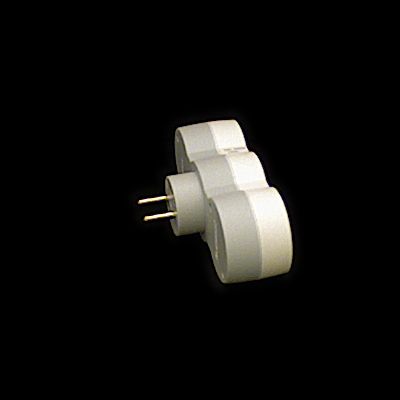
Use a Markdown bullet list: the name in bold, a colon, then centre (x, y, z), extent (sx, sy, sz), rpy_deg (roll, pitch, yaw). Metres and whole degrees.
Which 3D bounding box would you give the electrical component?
- **electrical component**: centre (0.000, 0.000, 0.644), extent (0.074, 0.053, 0.136), rpy_deg (-8, 33, -11)
